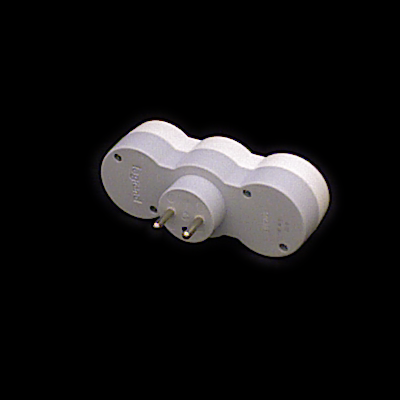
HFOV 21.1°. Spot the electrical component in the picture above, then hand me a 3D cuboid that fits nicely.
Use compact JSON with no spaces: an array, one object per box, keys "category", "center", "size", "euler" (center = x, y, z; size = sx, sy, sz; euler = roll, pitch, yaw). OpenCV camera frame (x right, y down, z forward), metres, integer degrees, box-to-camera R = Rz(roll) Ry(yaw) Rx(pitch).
[{"category":"electrical component","center":[0.000,0.000,0.636],"size":[0.138,0.053,0.073],"euler":[16,37,22]}]
